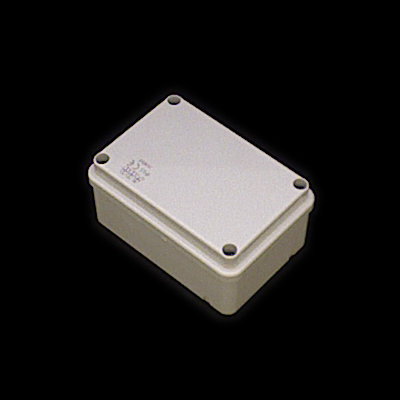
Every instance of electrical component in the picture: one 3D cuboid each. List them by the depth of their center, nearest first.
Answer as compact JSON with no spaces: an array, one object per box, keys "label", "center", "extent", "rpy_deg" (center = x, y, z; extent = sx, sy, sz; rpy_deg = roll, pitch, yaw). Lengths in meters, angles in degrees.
[{"label":"electrical component","center":[0.000,0.000,0.627],"extent":[0.112,0.057,0.078],"rpy_deg":[35,60,23]}]
